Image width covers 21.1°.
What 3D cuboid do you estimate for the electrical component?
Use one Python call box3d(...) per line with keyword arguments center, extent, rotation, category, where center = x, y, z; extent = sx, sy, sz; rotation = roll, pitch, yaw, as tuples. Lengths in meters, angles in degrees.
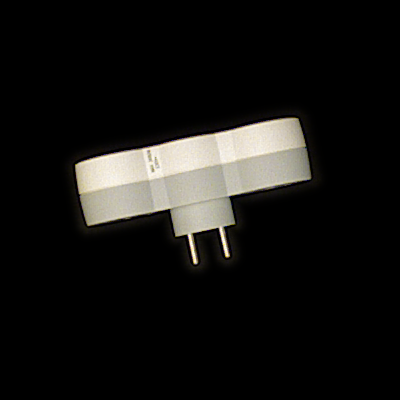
box3d(center=(0.000, 0.000, 0.639), extent=(0.138, 0.074, 0.052), rotation=(-12, -4, -1), category="electrical component")
